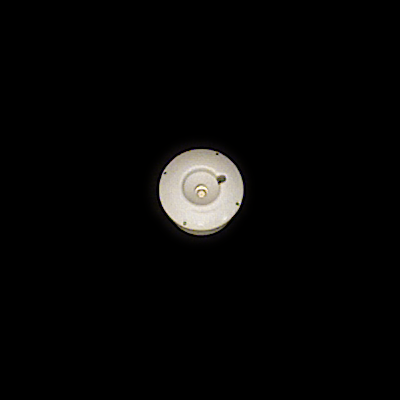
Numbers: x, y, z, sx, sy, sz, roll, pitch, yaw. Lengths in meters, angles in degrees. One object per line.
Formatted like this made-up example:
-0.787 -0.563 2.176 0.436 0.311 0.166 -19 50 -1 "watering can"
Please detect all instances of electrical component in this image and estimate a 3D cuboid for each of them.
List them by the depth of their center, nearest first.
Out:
0.000 0.000 0.634 0.048 0.048 0.062 0 -16 1 "electrical component"
